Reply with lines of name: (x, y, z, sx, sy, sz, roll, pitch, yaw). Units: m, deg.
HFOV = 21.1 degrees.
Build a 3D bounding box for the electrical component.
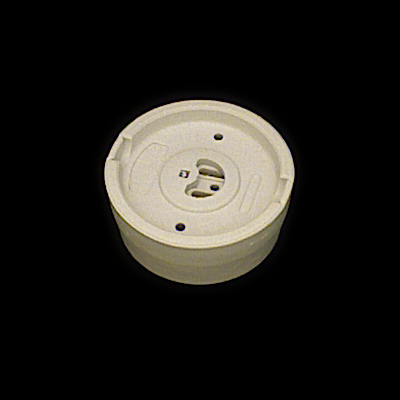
electrical component: (0.000, 0.000, 0.634, 0.108, 0.107, 0.060, 0, -37, -1)
